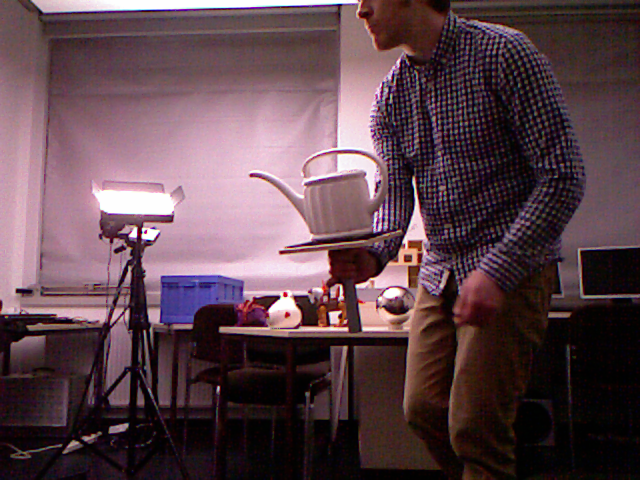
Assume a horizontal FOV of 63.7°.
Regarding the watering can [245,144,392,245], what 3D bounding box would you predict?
[{"bbox_3d":[-0.002,-0.088,1.135,0.347,0.224,0.105,-6,6,27],"label":"watering can"}]
